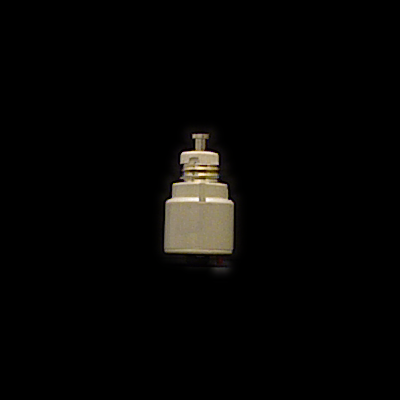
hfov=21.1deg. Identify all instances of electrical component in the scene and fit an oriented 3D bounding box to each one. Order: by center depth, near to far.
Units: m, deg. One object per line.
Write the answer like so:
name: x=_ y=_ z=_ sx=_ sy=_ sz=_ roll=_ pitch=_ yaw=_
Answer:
electrical component: x=0.000 y=0.000 z=0.647 sx=0.040 sy=0.078 sz=0.040 roll=1 pitch=0 yaw=0
